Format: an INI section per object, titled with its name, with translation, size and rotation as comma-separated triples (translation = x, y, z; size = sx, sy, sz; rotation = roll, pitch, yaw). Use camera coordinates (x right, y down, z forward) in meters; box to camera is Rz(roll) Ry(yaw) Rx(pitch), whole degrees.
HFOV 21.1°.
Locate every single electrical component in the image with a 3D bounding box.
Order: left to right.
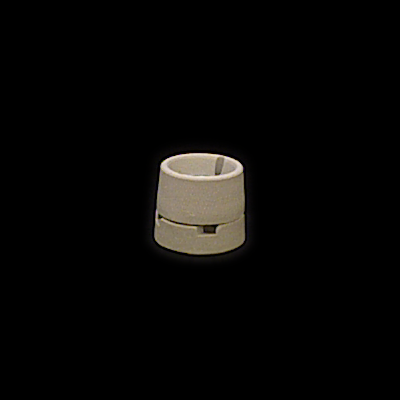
[electrical component]
translation = 0.000, 0.000, 0.643
size = 0.055, 0.047, 0.055
rotation = 2, 20, -1
